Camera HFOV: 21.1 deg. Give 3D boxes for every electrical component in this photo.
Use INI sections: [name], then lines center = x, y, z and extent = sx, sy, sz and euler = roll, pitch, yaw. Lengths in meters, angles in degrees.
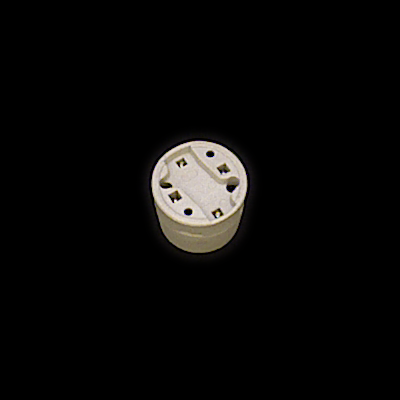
[electrical component]
center = 0.000, 0.000, 0.634
extent = 0.055, 0.056, 0.047
euler = 0, -27, 0
